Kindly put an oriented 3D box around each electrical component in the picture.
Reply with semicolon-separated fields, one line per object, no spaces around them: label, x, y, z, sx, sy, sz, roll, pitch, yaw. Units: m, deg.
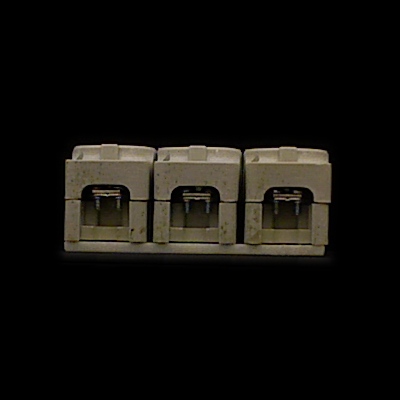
electrical component;0.000;0.000;0.655;0.150;0.062;0.089;1;0;2
